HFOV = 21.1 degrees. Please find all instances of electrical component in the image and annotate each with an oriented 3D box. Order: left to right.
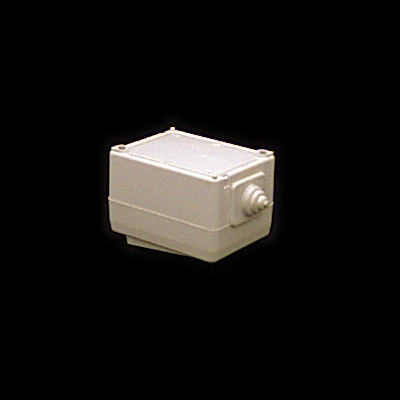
[{"bbox_3d":[0.000,0.000,0.637,0.095,0.061,0.061,17,26,34],"label":"electrical component"}]
